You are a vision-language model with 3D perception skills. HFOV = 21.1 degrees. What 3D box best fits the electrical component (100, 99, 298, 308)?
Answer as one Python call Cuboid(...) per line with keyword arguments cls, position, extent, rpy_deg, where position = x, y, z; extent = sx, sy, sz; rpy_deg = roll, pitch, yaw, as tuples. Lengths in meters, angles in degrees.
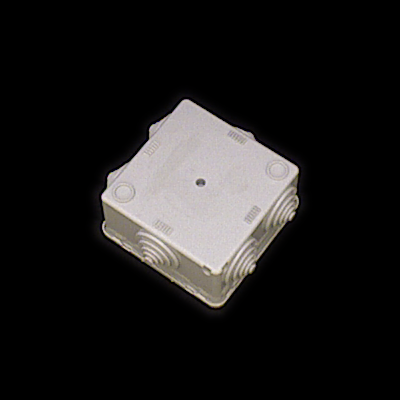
Cuboid(cls="electrical component", position=(0.000, 0.000, 0.631), extent=(0.099, 0.100, 0.048), rpy_deg=(33, -22, 15))
